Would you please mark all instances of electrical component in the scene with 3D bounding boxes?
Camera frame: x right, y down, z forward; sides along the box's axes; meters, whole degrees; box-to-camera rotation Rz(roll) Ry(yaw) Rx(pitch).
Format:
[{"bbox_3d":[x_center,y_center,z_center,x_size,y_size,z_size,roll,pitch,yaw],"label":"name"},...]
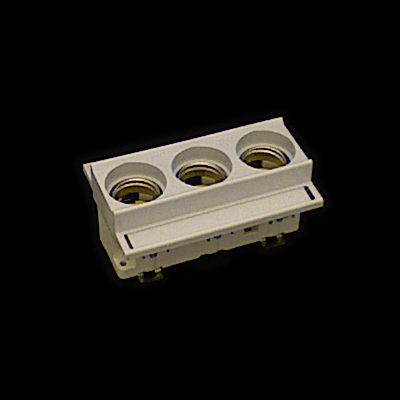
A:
[{"bbox_3d":[0.000,0.000,0.642,0.121,0.064,0.077,-15,46,-16],"label":"electrical component"}]
